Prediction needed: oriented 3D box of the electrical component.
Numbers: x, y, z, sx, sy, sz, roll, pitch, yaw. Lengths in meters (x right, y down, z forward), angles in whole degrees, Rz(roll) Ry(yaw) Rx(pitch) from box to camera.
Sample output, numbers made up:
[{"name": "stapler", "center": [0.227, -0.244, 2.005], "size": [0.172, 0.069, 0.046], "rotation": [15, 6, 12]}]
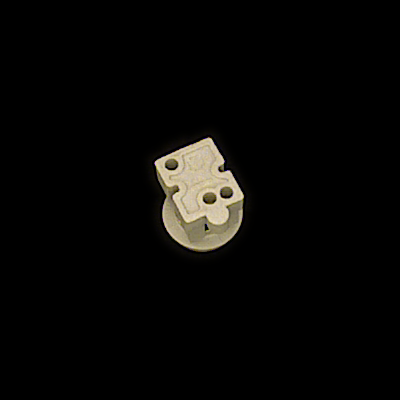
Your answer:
[{"name": "electrical component", "center": [0.000, 0.000, 0.637], "size": [0.048, 0.066, 0.055], "rotation": [-24, -25, -10]}]
